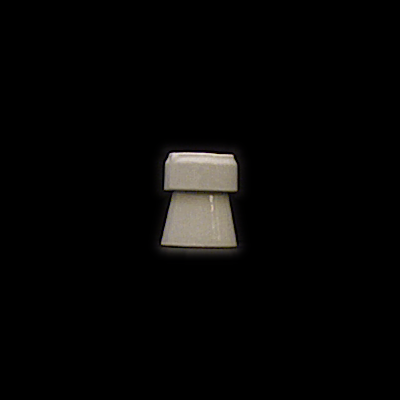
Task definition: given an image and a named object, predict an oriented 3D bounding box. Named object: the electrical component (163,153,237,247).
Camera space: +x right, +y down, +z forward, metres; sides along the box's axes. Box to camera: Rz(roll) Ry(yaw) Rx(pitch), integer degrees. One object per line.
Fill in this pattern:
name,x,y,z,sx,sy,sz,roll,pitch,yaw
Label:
electrical component,0.000,0.000,0.649,0.045,0.055,0.044,1,2,0
